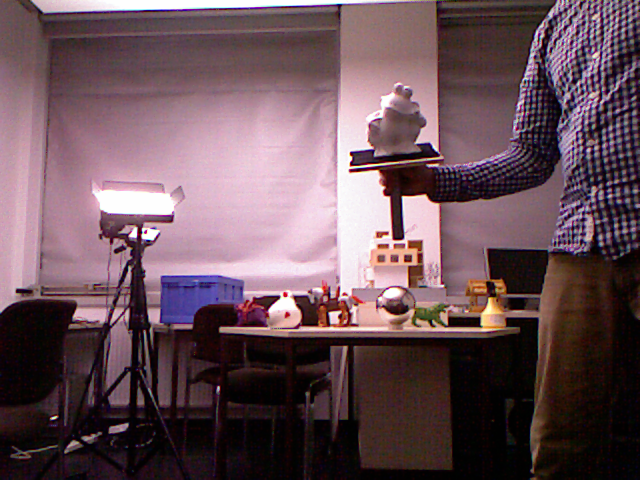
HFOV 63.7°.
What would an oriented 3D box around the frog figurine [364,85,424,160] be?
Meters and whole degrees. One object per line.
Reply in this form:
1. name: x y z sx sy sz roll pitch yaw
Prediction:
1. frog figurine: 0.167 -0.274 1.175 0.138 0.157 0.125 2 23 18
